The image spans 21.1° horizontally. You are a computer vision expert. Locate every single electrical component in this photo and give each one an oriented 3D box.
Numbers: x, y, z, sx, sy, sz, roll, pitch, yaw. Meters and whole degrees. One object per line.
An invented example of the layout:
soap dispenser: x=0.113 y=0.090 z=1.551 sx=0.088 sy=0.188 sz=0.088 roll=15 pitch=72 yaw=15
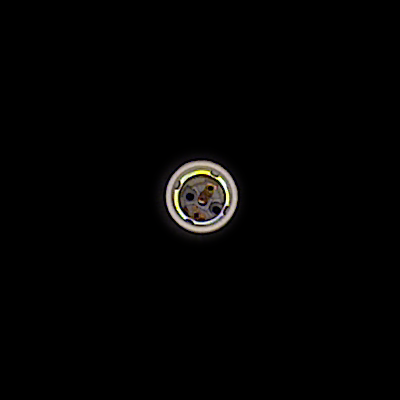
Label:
electrical component: x=0.000 y=0.000 z=0.627 sx=0.040 sy=0.040 sz=0.046 roll=0 pitch=-6 yaw=0
